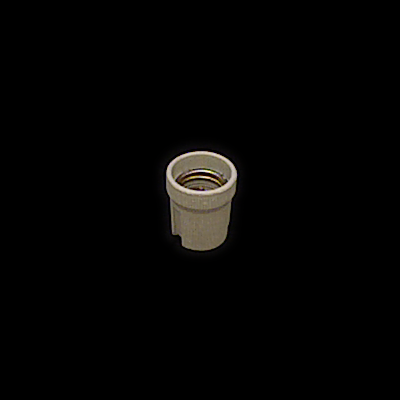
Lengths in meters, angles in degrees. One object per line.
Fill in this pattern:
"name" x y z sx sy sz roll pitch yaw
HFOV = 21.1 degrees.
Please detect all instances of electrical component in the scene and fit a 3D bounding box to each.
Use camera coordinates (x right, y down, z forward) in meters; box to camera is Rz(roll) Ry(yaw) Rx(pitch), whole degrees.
"electrical component" 0.000 0.000 0.634 0.040 0.047 0.039 1 42 0
